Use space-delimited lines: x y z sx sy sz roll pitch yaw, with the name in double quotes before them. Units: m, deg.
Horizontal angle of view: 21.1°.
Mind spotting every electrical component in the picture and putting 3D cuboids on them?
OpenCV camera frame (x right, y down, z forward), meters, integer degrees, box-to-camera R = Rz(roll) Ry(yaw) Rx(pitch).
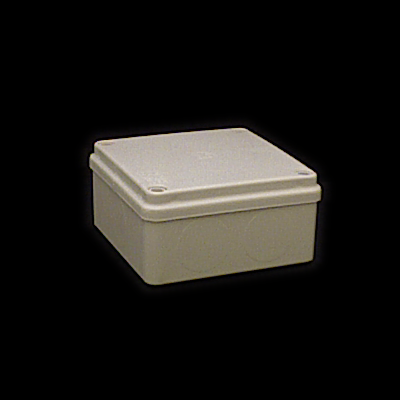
"electrical component" 0.000 0.000 0.641 0.109 0.057 0.107 -7 22 -22
